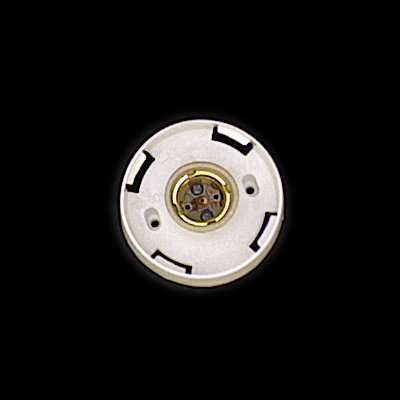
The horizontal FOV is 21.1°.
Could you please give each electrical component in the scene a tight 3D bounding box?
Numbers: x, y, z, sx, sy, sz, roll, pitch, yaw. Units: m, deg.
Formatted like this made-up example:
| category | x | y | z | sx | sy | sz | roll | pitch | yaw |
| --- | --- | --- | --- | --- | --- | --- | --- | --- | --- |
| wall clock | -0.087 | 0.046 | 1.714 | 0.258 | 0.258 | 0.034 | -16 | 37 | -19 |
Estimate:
| category | x | y | z | sx | sy | sz | roll | pitch | yaw |
| --- | --- | --- | --- | --- | --- | --- | --- | --- | --- |
| electrical component | 0.000 | 0.000 | 0.625 | 0.099 | 0.099 | 0.064 | 0 | -7 | 1 |
